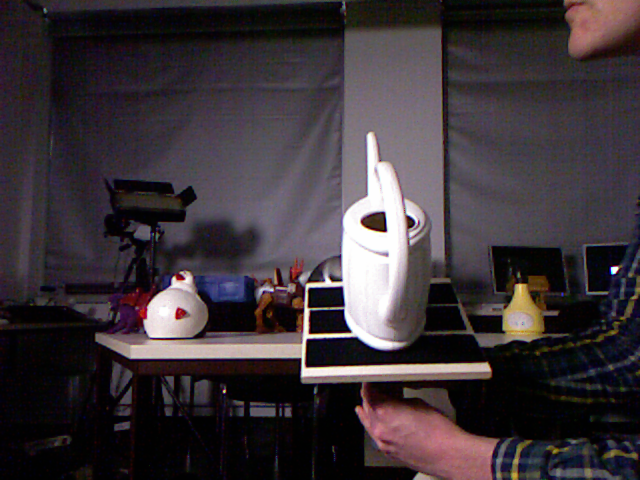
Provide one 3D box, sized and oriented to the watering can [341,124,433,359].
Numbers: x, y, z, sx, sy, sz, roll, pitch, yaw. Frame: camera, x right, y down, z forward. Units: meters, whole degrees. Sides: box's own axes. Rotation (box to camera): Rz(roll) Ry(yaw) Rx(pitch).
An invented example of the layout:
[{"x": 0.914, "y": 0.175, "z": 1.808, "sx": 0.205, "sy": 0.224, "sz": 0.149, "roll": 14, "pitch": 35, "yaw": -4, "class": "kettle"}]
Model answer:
[{"x": 0.077, "y": -0.007, "z": 0.643, "sx": 0.105, "sy": 0.222, "sz": 0.358, "roll": -1, "pitch": 28, "yaw": 1, "class": "watering can"}]
